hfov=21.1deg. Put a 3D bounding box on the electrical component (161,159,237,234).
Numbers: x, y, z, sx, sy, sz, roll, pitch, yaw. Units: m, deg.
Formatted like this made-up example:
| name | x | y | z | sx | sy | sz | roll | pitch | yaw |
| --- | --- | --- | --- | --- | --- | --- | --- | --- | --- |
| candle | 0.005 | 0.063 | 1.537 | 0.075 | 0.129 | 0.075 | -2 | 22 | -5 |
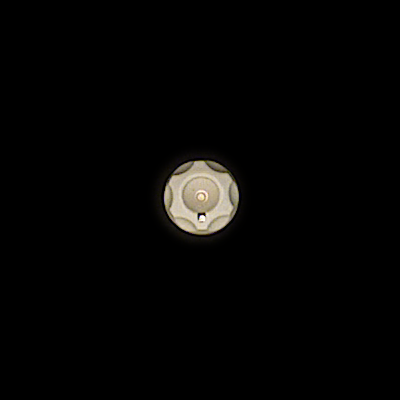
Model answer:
| name | x | y | z | sx | sy | sz | roll | pitch | yaw |
| --- | --- | --- | --- | --- | --- | --- | --- | --- | --- |
| electrical component | 0.000 | 0.000 | 0.635 | 0.043 | 0.043 | 0.062 | 0 | -6 | 1 |
